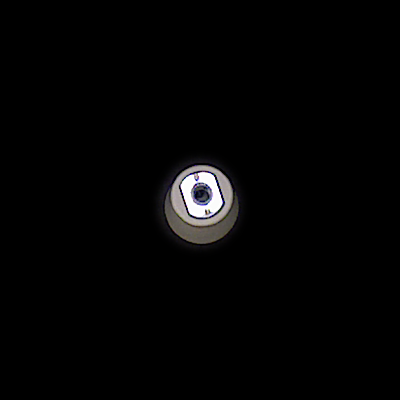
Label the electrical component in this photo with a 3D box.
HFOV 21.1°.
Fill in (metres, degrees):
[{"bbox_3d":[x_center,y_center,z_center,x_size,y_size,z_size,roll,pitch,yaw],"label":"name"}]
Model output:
[{"bbox_3d":[0.000,0.000,0.626,0.044,0.044,0.065,0,-7,0],"label":"electrical component"}]
